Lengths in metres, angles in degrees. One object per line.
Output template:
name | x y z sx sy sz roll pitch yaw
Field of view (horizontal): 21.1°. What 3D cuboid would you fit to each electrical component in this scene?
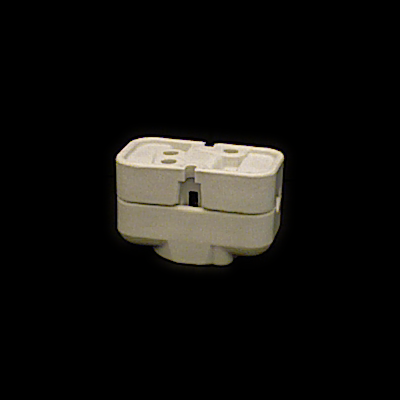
electrical component | 0.000 0.000 0.643 0.095 0.060 0.053 6 22 11
